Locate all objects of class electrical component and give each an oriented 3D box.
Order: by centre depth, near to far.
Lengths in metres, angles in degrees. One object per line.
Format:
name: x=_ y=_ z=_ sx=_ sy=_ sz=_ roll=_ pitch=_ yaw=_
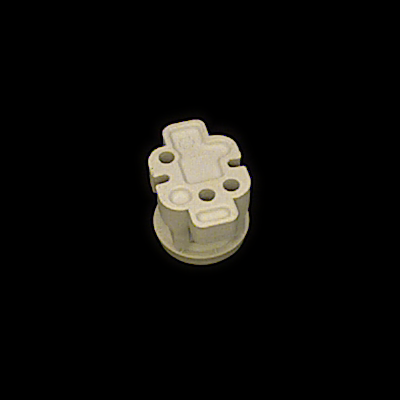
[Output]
electrical component: x=0.000 y=0.000 z=0.637 sx=0.058 sy=0.078 sz=0.057 roll=-14 pitch=-37 yaw=-10
